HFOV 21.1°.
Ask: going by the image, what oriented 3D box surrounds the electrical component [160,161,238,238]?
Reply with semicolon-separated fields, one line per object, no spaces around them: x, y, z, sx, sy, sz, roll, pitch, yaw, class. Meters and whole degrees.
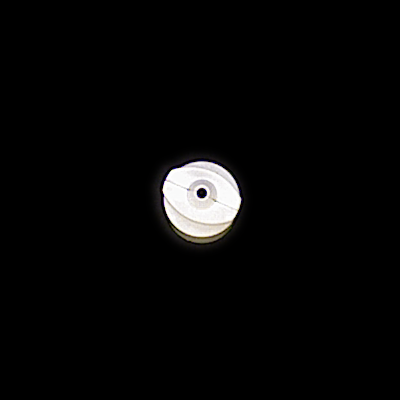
0.000;0.000;0.616;0.043;0.043;0.080;0;-6;1;electrical component
